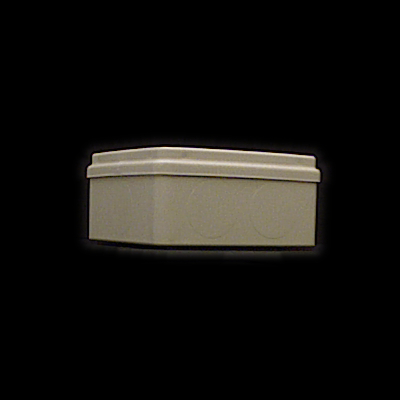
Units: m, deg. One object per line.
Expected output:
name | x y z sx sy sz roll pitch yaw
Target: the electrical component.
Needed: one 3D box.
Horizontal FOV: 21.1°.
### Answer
electrical component | 0.000 0.000 0.651 0.109 0.056 0.108 2 0 -29
